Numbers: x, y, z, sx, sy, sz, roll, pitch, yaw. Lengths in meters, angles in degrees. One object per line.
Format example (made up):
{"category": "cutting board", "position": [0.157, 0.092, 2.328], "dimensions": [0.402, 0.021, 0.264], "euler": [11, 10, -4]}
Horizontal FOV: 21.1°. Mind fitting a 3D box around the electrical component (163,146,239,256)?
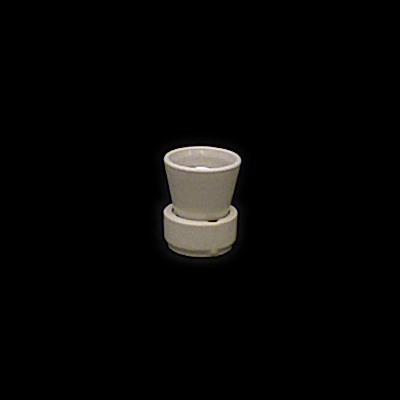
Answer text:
{"category": "electrical component", "position": [0.000, 0.000, 0.641], "dimensions": [0.045, 0.056, 0.044], "euler": [2, 21, 0]}
